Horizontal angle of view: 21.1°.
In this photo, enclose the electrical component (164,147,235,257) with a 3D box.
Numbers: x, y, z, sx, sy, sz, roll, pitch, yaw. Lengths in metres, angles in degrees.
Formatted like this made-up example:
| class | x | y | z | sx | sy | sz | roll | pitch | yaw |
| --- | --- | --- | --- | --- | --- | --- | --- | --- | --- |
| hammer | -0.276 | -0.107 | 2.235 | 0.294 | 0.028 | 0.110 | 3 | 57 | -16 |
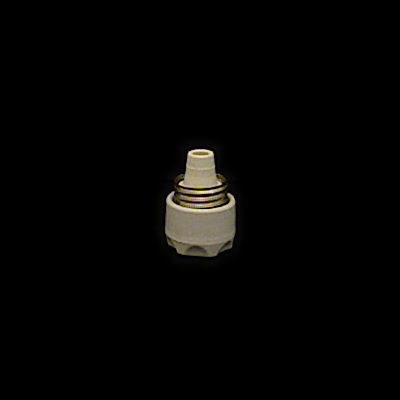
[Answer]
| class | x | y | z | sx | sy | sz | roll | pitch | yaw |
| --- | --- | --- | --- | --- | --- | --- | --- | --- | --- |
| electrical component | 0.000 | 0.000 | 0.647 | 0.043 | 0.063 | 0.043 | 1 | 21 | 0 |
